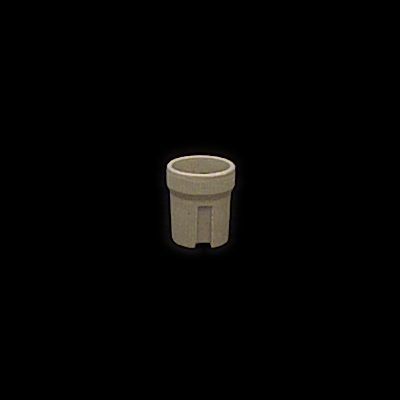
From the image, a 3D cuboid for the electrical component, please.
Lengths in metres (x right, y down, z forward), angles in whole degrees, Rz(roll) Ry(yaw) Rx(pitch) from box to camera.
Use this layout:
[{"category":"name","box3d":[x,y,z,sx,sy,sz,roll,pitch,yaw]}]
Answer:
[{"category":"electrical component","box3d":[0.000,0.000,0.642,0.040,0.047,0.039,1,21,0]}]
